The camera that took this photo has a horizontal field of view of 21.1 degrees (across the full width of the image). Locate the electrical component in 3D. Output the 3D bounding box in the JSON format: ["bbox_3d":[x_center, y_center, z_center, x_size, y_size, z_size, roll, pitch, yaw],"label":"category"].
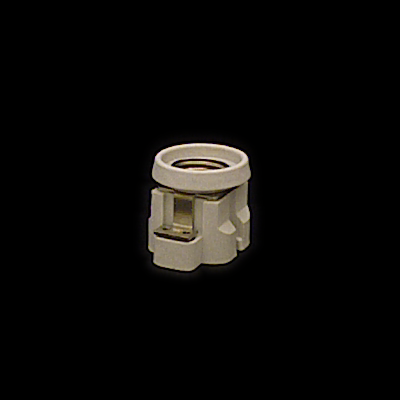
[{"bbox_3d":[0.000,0.000,0.637,0.057,0.057,0.078,11,23,23],"label":"electrical component"}]
